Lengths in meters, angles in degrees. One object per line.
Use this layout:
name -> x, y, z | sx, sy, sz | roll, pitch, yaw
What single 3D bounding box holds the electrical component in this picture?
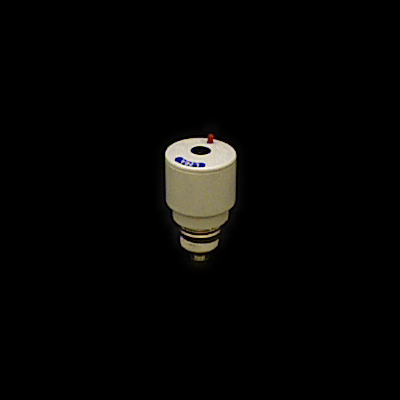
electrical component -> 0.000, 0.000, 0.631 | 0.040, 0.079, 0.039 | 1, 30, 0
